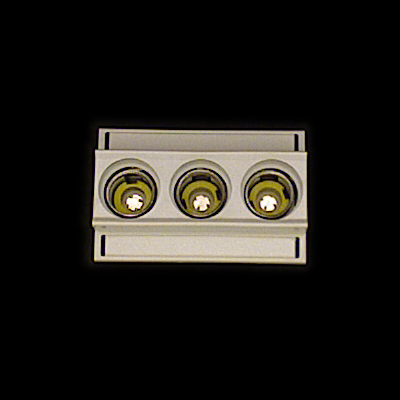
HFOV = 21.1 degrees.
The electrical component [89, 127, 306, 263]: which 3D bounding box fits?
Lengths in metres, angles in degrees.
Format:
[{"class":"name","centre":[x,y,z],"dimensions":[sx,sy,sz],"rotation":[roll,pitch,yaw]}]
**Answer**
[{"class":"electrical component","centre":[0.000,0.000,0.637],"dimensions":[0.121,0.079,0.063],"rotation":[1,-15,1]}]
